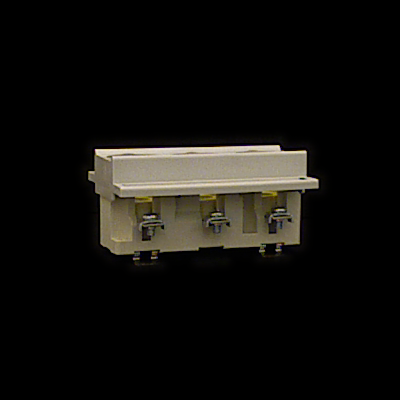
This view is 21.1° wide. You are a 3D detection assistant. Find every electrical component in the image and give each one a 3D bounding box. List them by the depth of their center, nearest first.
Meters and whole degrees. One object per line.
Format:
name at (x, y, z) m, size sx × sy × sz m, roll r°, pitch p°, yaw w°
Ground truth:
electrical component at (0.000, 0.000, 0.657) m, size 0.122 × 0.063 × 0.078 m, roll -3°, pitch 10°, yaw -19°
